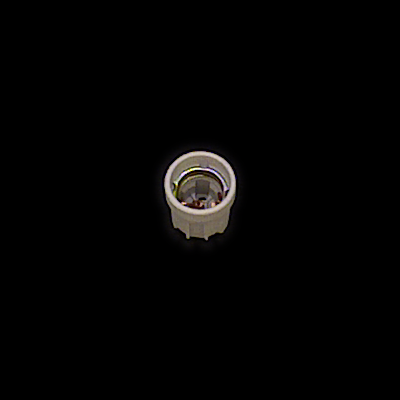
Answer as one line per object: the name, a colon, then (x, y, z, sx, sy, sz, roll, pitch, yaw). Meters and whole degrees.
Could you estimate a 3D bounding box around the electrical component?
electrical component: (0.000, 0.000, 0.627, 0.040, 0.040, 0.046, 0, -27, 0)
